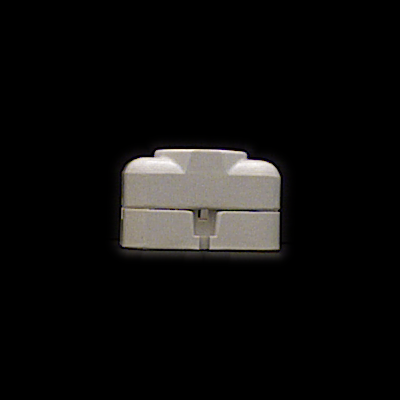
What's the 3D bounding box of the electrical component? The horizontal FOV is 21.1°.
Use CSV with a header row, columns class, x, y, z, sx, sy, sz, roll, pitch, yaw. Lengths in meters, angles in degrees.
class,x,y,z,sx,sy,sz,roll,pitch,yaw
electrical component,0.000,0.000,0.658,0.095,0.059,0.053,2,2,-9
